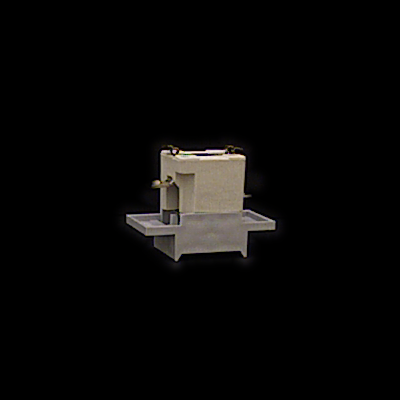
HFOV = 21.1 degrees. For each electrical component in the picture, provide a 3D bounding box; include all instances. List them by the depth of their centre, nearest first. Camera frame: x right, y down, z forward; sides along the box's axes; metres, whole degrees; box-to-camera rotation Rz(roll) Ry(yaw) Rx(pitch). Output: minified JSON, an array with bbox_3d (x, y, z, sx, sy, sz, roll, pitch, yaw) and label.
[{"bbox_3d":[0.000,0.000,0.645,0.081,0.064,0.042,-3,12,-20],"label":"electrical component"}]
